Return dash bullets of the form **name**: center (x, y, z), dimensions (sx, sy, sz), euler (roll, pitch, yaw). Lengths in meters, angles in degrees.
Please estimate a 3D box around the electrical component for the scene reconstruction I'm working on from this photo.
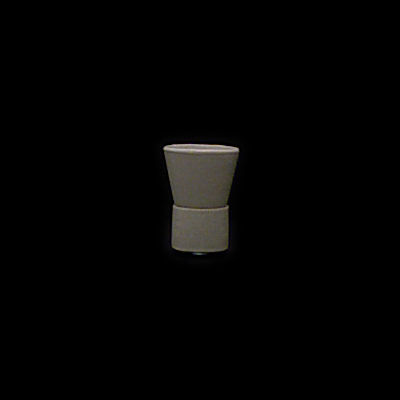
- **electrical component**: center (0.000, 0.000, 0.646), dimensions (0.044, 0.066, 0.044), euler (1, 10, 0)
